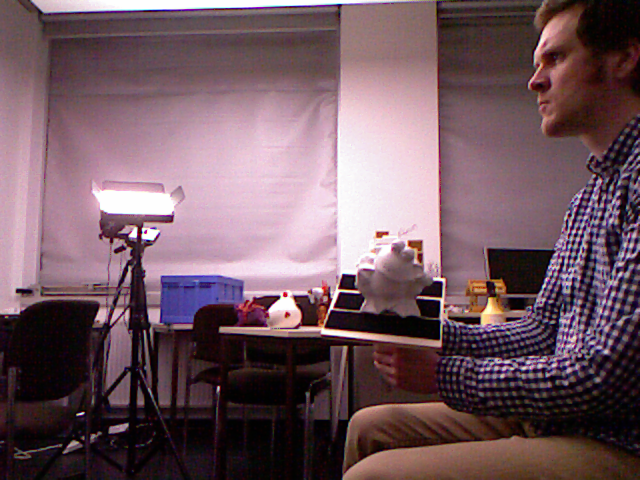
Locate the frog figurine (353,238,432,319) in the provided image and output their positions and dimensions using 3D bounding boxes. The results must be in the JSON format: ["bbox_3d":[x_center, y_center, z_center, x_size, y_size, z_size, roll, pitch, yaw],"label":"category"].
[{"bbox_3d":[0.125,0.053,0.902,0.138,0.156,0.125,12,35,22],"label":"frog figurine"}]
